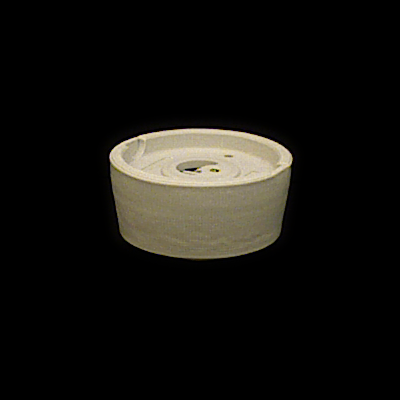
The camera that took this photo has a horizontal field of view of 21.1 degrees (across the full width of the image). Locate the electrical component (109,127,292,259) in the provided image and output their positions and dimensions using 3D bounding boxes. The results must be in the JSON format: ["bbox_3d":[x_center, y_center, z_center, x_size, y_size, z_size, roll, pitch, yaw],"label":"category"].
[{"bbox_3d":[0.000,0.000,0.646,0.108,0.061,0.106,1,21,0],"label":"electrical component"}]
